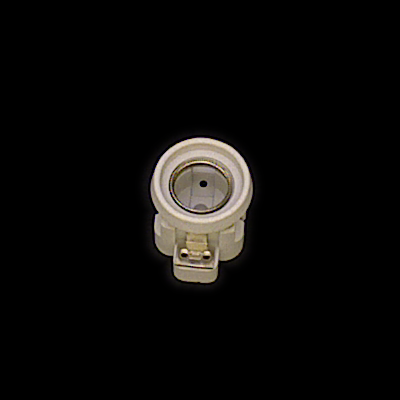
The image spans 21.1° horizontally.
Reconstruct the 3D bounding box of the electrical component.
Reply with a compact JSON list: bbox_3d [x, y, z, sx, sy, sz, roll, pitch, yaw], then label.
[{"bbox_3d":[0.000,0.000,0.627,0.058,0.078,0.056,5,-27,2],"label":"electrical component"}]
